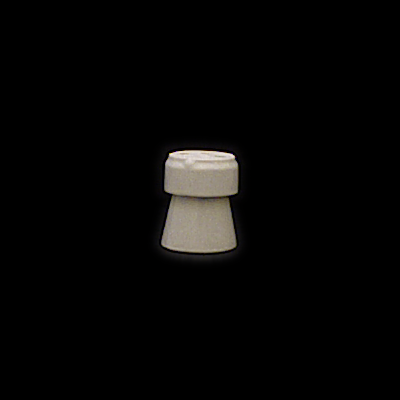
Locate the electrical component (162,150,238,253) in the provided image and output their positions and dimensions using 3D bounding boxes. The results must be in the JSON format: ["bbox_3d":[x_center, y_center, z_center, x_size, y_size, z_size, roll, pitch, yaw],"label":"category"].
[{"bbox_3d":[0.000,0.000,0.644,0.045,0.055,0.044,1,12,0],"label":"electrical component"}]
